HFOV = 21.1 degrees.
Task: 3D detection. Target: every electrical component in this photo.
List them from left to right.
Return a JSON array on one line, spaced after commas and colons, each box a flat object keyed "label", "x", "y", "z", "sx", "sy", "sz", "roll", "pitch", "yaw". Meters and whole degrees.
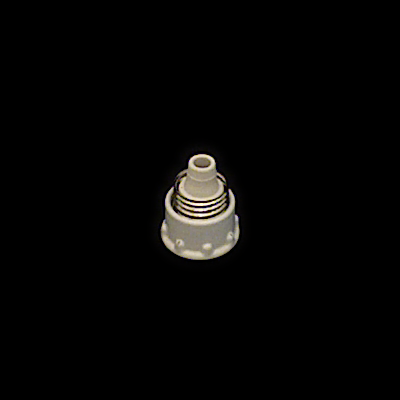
[{"label": "electrical component", "x": 0.000, "y": 0.000, "z": 0.639, "sx": 0.048, "sy": 0.062, "sz": 0.047, "roll": 1, "pitch": 42, "yaw": -1}]
